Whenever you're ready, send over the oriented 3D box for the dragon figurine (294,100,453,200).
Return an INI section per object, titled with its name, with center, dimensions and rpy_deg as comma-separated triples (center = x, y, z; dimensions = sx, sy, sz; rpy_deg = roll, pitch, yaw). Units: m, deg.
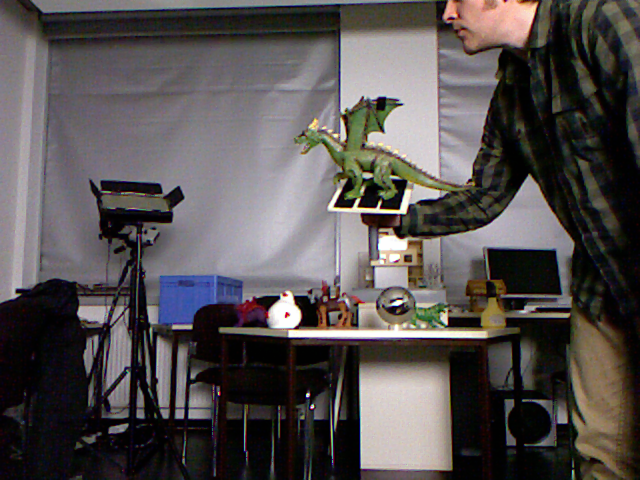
[dragon figurine]
center = 0.138, -0.237, 1.329
dimensions = 0.410, 0.237, 0.125
rpy_deg = 0, 31, 8
